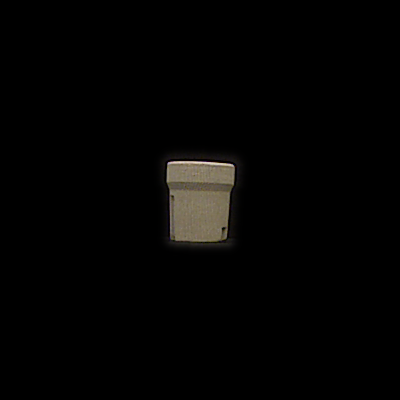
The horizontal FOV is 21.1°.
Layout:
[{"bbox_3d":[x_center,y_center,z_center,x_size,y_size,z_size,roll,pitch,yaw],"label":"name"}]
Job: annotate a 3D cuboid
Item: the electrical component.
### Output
[{"bbox_3d":[0.000,0.000,0.649,0.040,0.046,0.040,1,1,0],"label":"electrical component"}]
